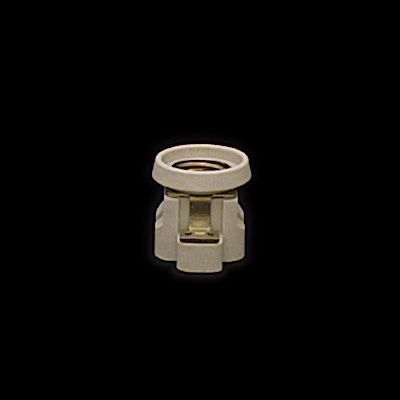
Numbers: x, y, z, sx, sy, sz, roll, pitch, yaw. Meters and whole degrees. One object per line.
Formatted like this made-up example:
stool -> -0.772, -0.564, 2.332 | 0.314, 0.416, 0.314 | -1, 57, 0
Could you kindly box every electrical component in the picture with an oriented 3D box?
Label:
electrical component -> 0.000, 0.000, 0.638 | 0.058, 0.057, 0.077 | 1, 21, 0
